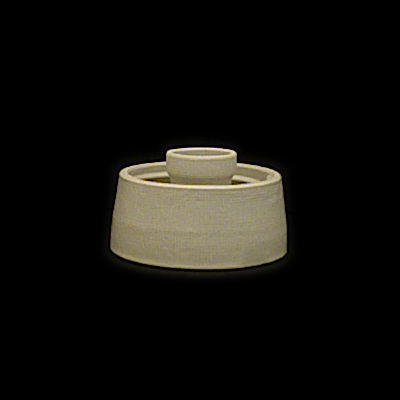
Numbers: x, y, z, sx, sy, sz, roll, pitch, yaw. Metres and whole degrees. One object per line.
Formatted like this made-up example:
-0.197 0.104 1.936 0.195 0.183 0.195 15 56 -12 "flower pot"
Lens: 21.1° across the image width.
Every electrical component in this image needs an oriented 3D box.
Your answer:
0.000 0.000 0.650 0.108 0.061 0.107 1 11 0 "electrical component"
